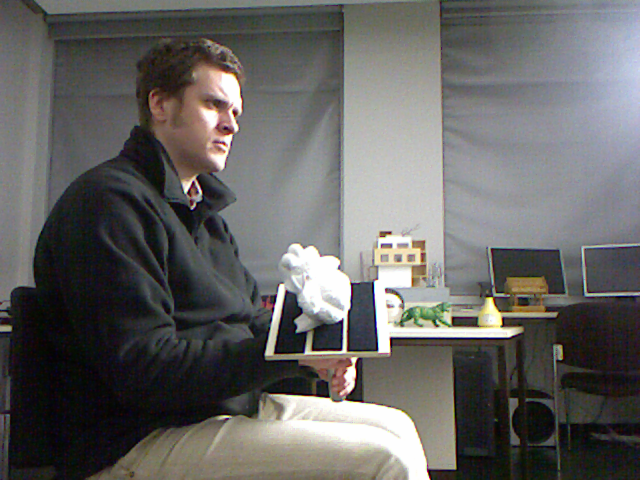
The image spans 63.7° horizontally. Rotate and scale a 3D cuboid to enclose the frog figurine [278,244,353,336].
[{"bbox_3d":[-0.006,0.071,0.868,0.123,0.156,0.140,14,38,25],"label":"frog figurine"}]
